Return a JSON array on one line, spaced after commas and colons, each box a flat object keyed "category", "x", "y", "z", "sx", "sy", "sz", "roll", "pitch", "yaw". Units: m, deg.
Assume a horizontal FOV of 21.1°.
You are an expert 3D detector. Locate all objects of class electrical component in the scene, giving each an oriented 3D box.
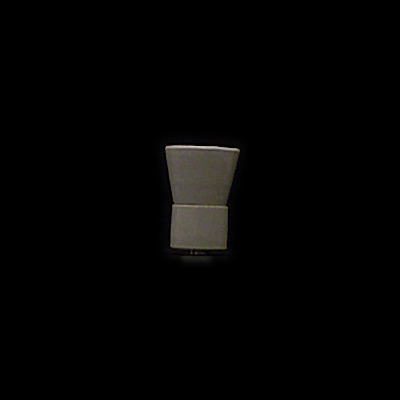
[{"category": "electrical component", "x": 0.000, "y": 0.000, "z": 0.649, "sx": 0.044, "sy": 0.065, "sz": 0.044, "roll": 2, "pitch": 1, "yaw": 0}]
